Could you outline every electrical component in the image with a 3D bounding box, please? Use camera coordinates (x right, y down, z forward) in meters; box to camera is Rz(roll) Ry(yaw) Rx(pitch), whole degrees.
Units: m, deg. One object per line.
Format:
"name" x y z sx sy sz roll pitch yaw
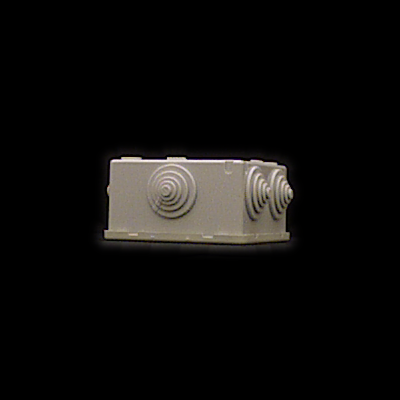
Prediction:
"electrical component" 0.000 0.000 0.648 0.099 0.048 0.100 1 0 22
